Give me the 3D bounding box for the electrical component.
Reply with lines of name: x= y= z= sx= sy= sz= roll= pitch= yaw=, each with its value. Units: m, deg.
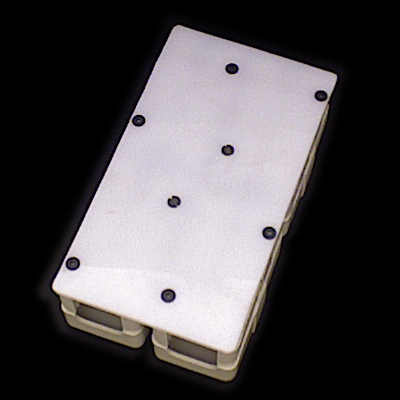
electrical component: x=0.000 y=0.000 z=0.625 sx=0.105 sy=0.186 sz=0.060 roll=18 pitch=-25 yaw=9
